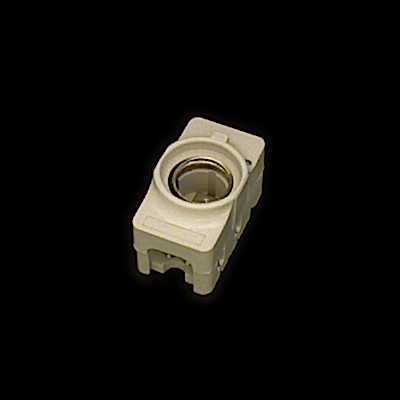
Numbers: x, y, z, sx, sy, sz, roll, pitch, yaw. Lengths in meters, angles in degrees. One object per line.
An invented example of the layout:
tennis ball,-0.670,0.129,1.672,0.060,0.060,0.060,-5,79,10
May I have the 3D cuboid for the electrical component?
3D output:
electrical component,0.000,0.000,0.637,0.050,0.089,0.056,18,-35,13
